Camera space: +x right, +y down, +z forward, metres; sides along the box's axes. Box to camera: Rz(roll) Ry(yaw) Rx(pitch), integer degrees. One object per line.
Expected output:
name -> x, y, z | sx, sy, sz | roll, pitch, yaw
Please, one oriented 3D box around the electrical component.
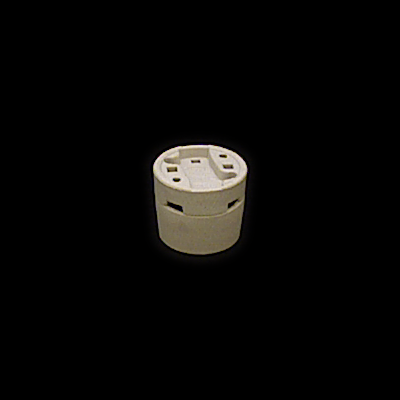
electrical component -> 0.000, 0.000, 0.638 | 0.055, 0.047, 0.055 | 1, 31, 0
